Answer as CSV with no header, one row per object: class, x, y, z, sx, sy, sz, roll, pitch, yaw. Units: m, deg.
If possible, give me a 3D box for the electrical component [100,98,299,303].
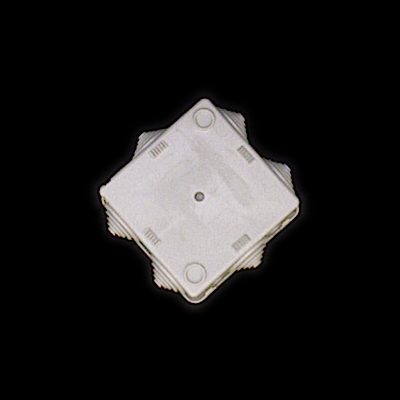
electrical component,0.000,0.000,0.632,0.100,0.100,0.048,-41,-5,-5
